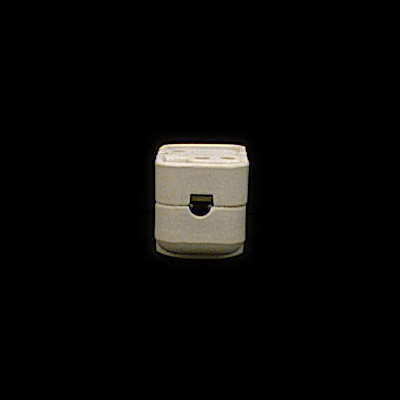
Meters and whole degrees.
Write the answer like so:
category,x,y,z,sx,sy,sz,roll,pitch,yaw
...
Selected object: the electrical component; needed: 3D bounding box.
category,x,y,z,sx,sy,sz,roll,pitch,yaw
electrical component,0.000,0.000,0.653,0.054,0.060,0.094,1,10,0
